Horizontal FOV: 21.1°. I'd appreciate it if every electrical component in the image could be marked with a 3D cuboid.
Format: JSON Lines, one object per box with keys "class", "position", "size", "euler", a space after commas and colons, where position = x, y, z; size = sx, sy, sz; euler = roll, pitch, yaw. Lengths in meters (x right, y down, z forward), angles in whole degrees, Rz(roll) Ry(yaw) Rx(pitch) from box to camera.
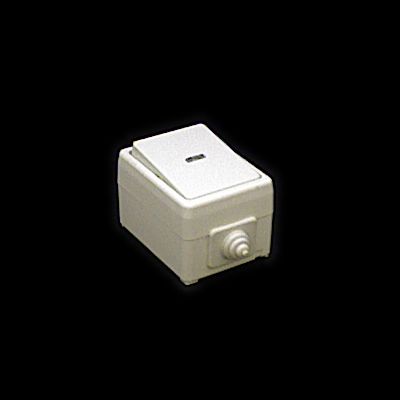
{"class": "electrical component", "position": [0.000, 0.000, 0.632], "size": [0.061, 0.061, 0.095], "euler": [-18, 36, -28]}
